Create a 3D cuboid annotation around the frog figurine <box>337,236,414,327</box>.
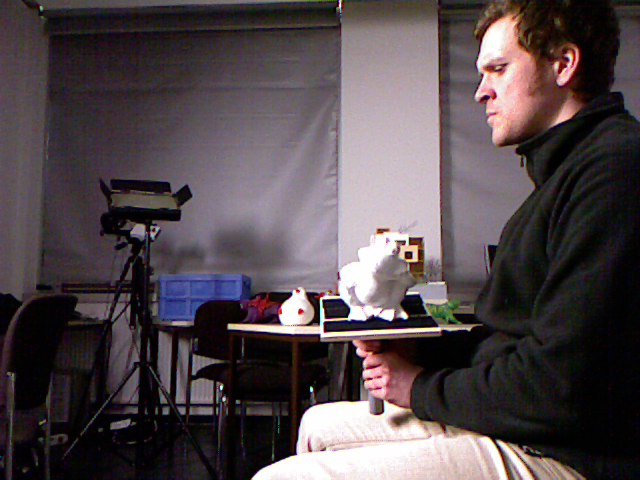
[{"bbox_3d":[0.100,0.064,0.927,0.138,0.158,0.124,3,16,16],"label":"frog figurine"}]
